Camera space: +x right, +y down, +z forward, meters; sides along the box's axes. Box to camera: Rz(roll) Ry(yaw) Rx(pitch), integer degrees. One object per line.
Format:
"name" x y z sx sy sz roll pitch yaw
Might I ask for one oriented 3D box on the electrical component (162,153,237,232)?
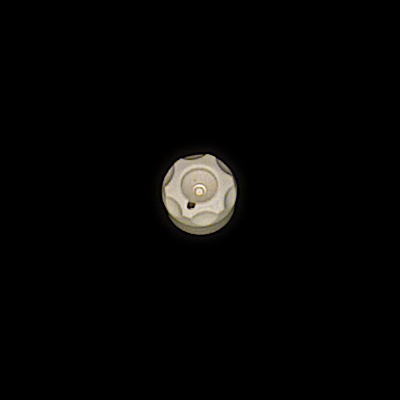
"electrical component" 0.000 0.000 0.634 0.043 0.043 0.061 0 -17 0
